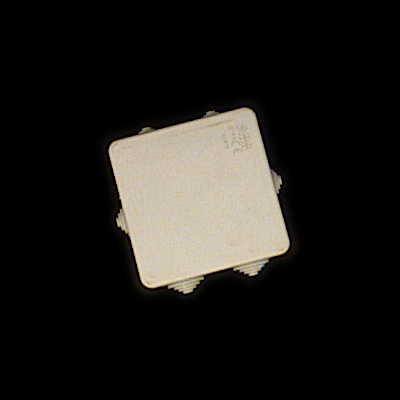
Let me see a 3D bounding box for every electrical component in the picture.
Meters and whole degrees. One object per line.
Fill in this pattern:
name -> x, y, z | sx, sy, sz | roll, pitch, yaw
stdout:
electrical component -> 0.000, 0.000, 0.642 | 0.100, 0.100, 0.048 | -14, -6, -2
